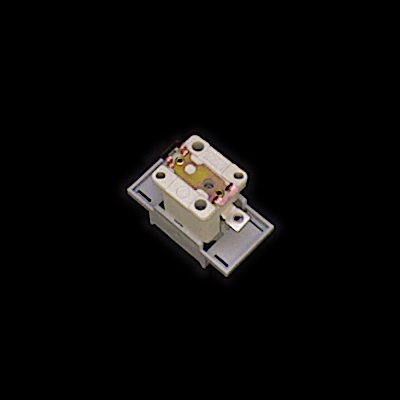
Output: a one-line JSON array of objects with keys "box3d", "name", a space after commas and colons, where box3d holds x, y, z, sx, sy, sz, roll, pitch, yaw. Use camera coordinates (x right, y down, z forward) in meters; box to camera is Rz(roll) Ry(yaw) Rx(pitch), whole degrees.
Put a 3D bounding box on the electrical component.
[{"box3d": [0.000, 0.000, 0.625, 0.081, 0.042, 0.063, 39, -21, 17], "name": "electrical component"}]
